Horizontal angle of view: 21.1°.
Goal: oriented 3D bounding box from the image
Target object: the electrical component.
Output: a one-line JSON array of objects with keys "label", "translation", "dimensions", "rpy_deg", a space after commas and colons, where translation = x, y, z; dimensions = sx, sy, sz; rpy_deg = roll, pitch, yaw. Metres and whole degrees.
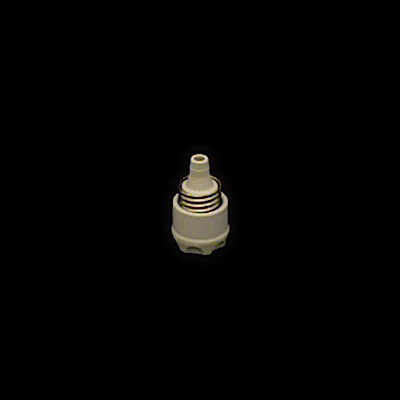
[{"label": "electrical component", "translation": [0.000, 0.000, 0.646], "dimensions": [0.035, 0.062, 0.034], "rpy_deg": [-1, 33, 1]}]
